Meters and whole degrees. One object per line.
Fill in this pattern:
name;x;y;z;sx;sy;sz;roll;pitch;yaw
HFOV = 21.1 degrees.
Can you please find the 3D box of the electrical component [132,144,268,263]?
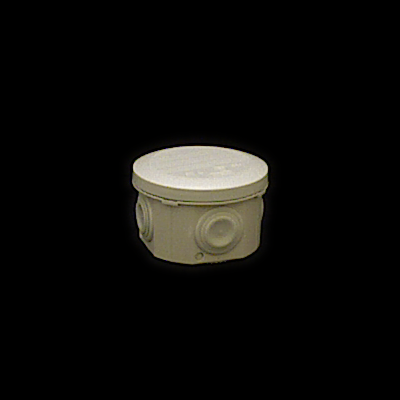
electrical component;0.000;0.000;0.638;0.080;0.051;0.079;1;21;0
